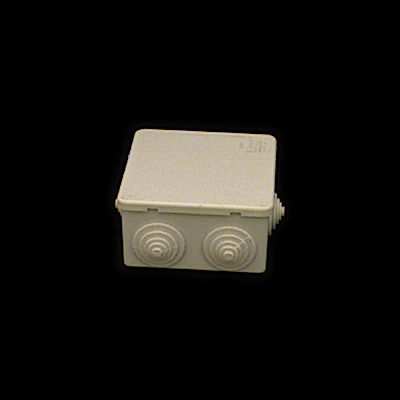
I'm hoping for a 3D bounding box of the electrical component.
[{"bbox_3d":[0.000,0.000,0.646,0.099,0.049,0.099,3,32,3],"label":"electrical component"}]
